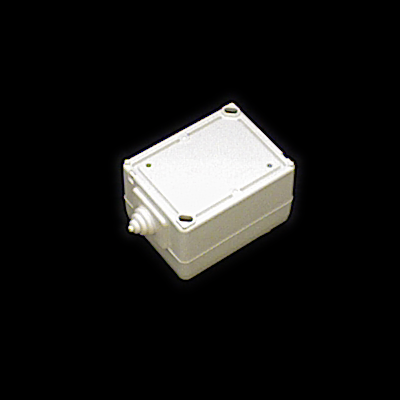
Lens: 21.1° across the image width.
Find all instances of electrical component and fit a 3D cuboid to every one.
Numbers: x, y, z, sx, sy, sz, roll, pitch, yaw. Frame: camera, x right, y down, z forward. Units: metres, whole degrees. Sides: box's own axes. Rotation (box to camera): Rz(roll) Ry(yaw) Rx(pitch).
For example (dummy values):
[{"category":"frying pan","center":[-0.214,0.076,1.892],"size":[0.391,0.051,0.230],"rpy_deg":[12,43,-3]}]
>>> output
[{"category":"electrical component","center":[-0.001,0.000,0.624],"size":[0.096,0.061,0.061],"rpy_deg":[-30,-31,-22]}]
